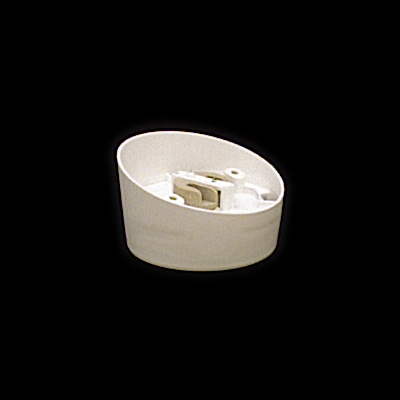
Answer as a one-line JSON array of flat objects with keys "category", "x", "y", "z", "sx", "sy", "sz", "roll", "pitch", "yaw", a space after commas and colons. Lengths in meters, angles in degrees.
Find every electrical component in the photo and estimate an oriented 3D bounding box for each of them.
[{"category": "electrical component", "x": 0.000, "y": 0.000, "z": 0.637, "sx": 0.099, "sy": 0.065, "sz": 0.097, "roll": 0, "pitch": 20, "yaw": 0}]
